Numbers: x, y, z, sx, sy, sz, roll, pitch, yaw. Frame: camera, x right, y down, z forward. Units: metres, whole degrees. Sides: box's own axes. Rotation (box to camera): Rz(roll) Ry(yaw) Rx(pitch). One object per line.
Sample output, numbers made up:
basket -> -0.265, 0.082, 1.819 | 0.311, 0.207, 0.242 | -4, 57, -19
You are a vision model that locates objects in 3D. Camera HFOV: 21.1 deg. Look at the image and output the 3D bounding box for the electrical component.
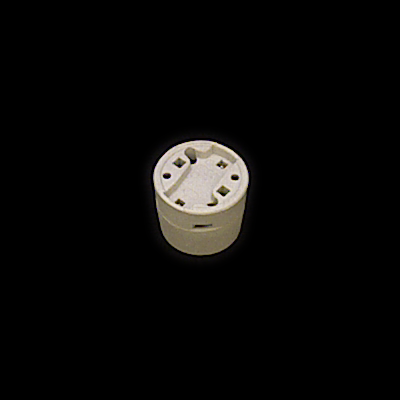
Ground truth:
electrical component -> 0.000, 0.000, 0.636 | 0.055, 0.055, 0.047 | 0, -37, 0
